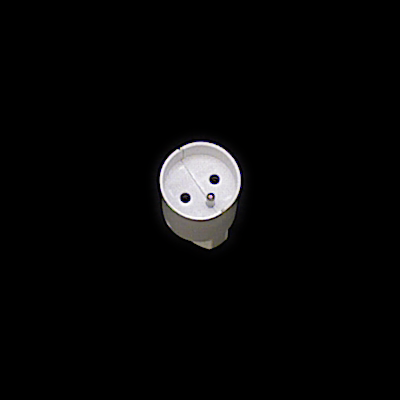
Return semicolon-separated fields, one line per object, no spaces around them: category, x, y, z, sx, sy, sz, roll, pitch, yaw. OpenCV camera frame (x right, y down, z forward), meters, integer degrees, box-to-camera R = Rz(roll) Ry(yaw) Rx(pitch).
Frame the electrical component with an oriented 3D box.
electrical component;0.000;0.000;0.615;0.043;0.043;0.080;0;-16;0
